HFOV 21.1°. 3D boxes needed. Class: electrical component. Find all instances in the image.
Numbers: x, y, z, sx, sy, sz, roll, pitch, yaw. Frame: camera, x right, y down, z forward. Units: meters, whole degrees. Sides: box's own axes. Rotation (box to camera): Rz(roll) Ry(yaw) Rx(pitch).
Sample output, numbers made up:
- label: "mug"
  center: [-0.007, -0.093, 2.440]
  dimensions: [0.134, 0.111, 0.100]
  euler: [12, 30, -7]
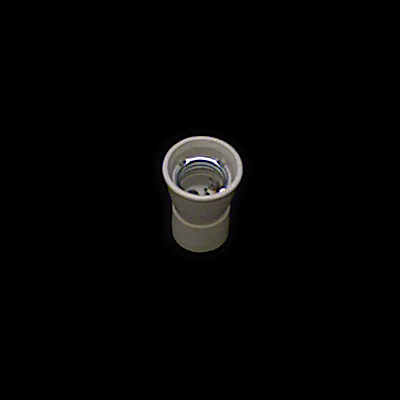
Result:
- label: "electrical component"
  center: [0.000, 0.000, 0.626]
  dimensions: [0.044, 0.044, 0.065]
  euler: [0, -37, -1]
